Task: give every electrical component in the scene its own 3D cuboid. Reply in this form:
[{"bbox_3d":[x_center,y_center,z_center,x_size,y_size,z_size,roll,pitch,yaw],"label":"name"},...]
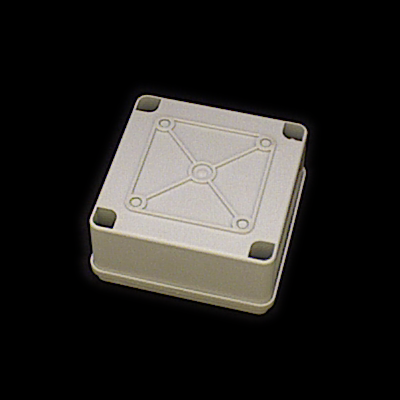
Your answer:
[{"bbox_3d":[0.000,0.000,0.631,0.108,0.108,0.056,12,-37,8],"label":"electrical component"}]
